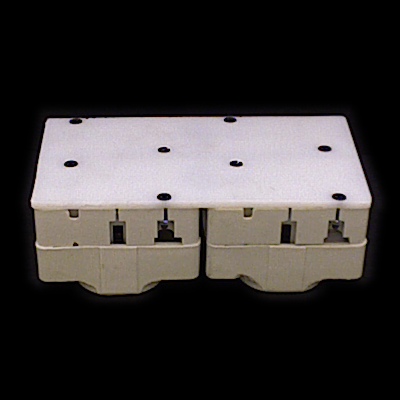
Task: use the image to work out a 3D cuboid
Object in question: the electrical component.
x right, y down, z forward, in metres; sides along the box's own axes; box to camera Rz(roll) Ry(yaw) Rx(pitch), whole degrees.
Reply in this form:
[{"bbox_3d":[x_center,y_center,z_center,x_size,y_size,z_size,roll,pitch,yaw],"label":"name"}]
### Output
[{"bbox_3d":[0.000,0.000,0.634,0.186,0.061,0.104,0,31,-3],"label":"electrical component"}]
